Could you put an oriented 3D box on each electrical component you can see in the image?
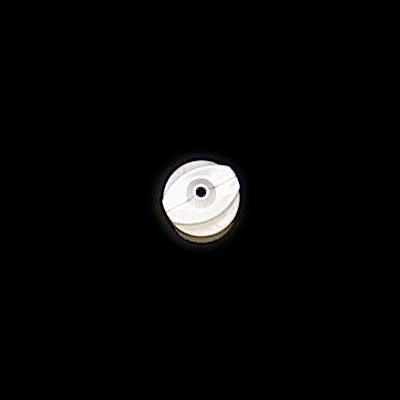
[{"bbox_3d":[0.000,0.000,0.616,0.043,0.043,0.080,0,-6,1],"label":"electrical component"}]
